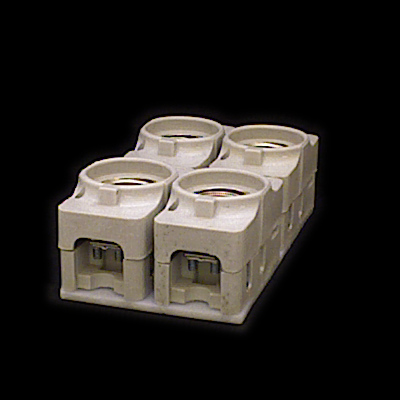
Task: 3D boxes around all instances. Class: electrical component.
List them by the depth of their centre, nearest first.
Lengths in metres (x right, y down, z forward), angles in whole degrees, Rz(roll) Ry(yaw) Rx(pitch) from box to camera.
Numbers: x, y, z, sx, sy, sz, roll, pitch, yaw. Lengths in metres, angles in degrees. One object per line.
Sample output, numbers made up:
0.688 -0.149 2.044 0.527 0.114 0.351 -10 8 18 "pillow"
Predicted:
0.000 0.000 0.638 0.105 0.061 0.184 7 22 16 "electrical component"
